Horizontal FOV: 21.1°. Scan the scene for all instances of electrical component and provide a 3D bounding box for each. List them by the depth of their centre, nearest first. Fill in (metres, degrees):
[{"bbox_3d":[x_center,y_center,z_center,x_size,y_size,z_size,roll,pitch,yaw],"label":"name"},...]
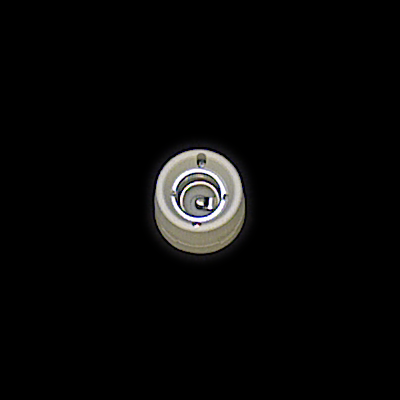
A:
[{"bbox_3d":[0.000,0.000,0.632,0.055,0.056,0.047,0,-16,0],"label":"electrical component"}]
